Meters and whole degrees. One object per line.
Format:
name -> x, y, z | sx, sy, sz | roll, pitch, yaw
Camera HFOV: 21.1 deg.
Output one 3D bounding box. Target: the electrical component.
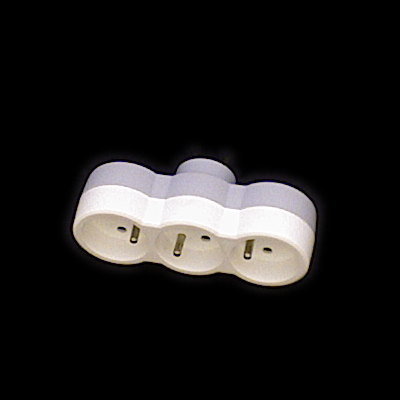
electrical component -> 0.000, 0.000, 0.632 | 0.138, 0.073, 0.052 | 8, -39, 6
